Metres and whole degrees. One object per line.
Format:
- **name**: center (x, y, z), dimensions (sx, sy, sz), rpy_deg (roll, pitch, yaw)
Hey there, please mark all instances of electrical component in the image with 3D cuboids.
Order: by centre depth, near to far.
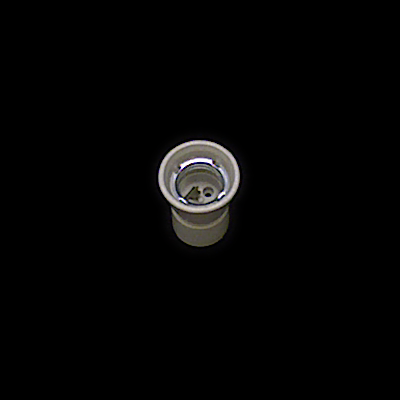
- **electrical component**: center (0.000, 0.000, 0.624), dimensions (0.044, 0.044, 0.065), rpy_deg (0, -26, 0)
